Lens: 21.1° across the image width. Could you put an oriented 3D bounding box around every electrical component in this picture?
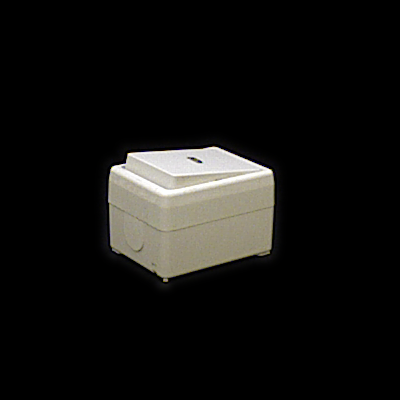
[{"bbox_3d":[0.000,0.000,0.640,0.096,0.061,0.061,-13,25,-34],"label":"electrical component"}]
